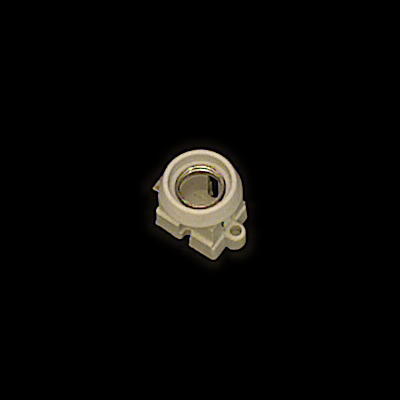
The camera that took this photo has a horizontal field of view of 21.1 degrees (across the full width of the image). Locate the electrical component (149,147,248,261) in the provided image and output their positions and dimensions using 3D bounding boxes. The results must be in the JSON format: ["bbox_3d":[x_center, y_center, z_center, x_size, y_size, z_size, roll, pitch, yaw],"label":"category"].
[{"bbox_3d":[0.000,0.000,0.637,0.066,0.049,0.055,31,-24,14],"label":"electrical component"}]
